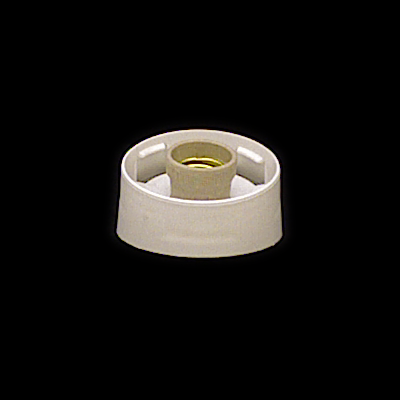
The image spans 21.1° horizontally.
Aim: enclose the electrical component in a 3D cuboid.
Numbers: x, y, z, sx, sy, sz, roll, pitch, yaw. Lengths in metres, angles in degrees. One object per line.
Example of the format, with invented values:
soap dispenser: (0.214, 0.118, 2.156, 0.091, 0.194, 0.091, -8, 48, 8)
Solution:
electrical component: (0.000, 0.000, 0.633, 0.099, 0.065, 0.097, 1, 31, 0)
